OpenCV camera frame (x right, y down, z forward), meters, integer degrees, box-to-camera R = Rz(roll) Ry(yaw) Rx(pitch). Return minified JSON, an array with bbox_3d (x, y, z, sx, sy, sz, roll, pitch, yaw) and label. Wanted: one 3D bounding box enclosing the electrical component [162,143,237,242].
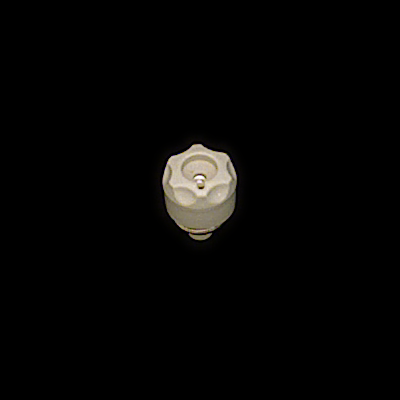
[{"bbox_3d":[0.000,0.000,0.636,0.043,0.043,0.062,0,-38,0],"label":"electrical component"}]
